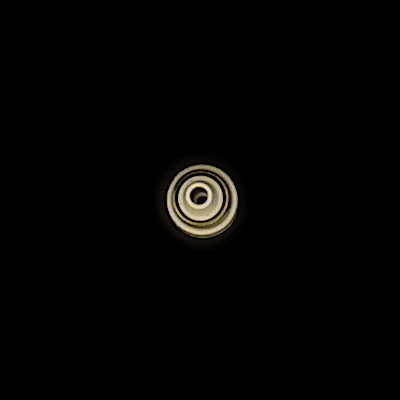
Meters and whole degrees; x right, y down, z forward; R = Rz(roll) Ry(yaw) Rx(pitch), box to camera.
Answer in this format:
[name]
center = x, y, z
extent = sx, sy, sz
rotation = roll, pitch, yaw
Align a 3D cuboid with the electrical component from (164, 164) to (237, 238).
[electrical component]
center = 0.000, 0.000, 0.635
extent = 0.043, 0.043, 0.062
rotation = 0, -5, 2
